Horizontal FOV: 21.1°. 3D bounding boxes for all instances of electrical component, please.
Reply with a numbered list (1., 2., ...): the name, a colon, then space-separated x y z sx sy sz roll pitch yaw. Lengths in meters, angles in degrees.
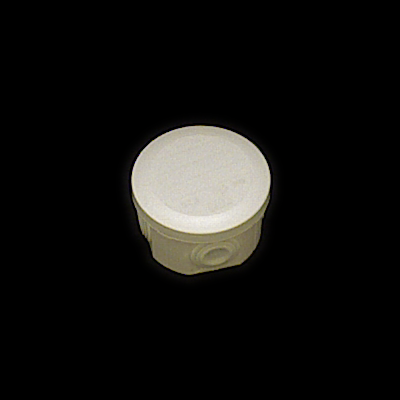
1. electrical component: 0.000 0.000 0.630 0.080 0.080 0.051 0 -38 0
